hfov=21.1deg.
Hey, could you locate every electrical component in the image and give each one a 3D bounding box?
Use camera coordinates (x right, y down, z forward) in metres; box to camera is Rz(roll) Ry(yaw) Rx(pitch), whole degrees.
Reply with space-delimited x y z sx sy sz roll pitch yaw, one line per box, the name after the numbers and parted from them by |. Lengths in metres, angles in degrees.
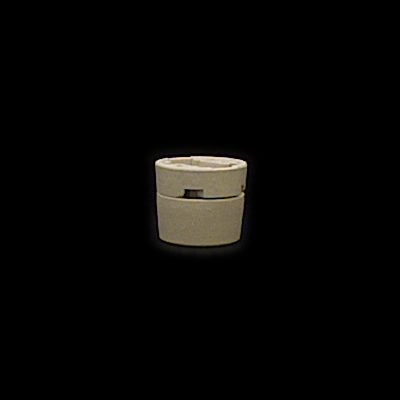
0.000 0.000 0.646 0.055 0.047 0.055 2 11 0 | electrical component
